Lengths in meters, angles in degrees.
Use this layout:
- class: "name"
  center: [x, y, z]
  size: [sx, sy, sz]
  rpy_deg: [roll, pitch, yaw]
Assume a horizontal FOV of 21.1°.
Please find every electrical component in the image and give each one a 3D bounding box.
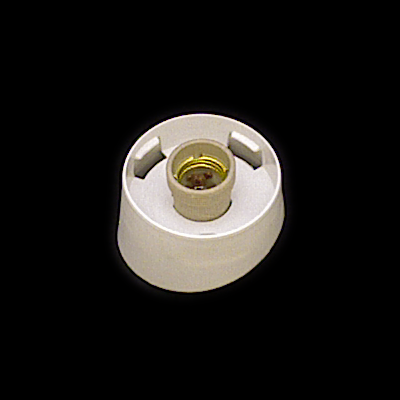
- class: "electrical component"
  center: [0.000, 0.000, 0.627]
  size: [0.099, 0.098, 0.064]
  rpy_deg: [0, -37, 0]
